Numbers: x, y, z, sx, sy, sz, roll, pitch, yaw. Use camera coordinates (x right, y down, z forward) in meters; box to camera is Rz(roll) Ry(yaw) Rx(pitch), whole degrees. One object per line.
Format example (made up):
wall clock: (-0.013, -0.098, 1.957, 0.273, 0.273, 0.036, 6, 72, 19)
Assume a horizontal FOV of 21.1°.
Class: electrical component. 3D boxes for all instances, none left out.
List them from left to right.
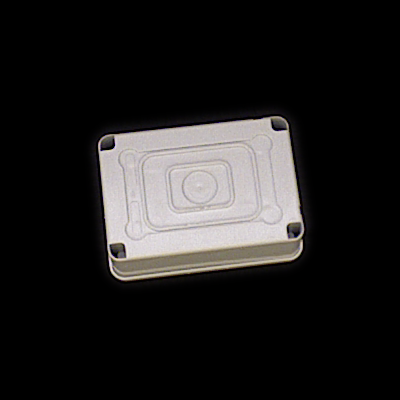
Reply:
electrical component: (0.000, 0.000, 0.628, 0.113, 0.078, 0.057, -7, -17, -2)
